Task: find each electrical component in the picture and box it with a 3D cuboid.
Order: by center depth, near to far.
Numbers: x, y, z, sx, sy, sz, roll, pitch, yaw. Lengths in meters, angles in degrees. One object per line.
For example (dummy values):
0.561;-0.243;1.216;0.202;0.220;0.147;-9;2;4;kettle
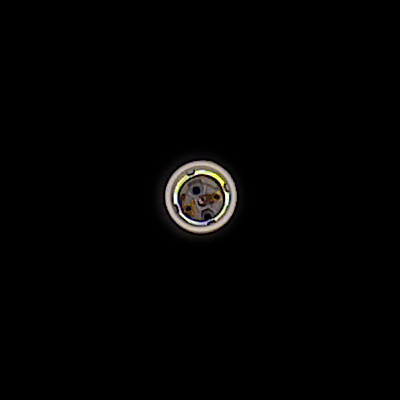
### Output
0.000;0.000;0.627;0.040;0.040;0.046;0;-6;0;electrical component
